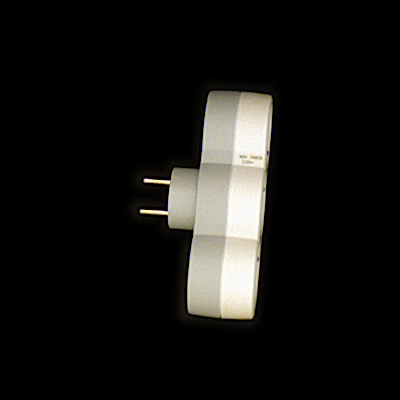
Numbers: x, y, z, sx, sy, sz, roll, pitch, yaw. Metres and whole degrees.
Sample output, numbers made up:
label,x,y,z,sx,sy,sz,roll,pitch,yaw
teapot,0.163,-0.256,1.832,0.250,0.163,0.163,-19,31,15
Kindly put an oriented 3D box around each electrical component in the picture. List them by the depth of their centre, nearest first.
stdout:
label,x,y,z,sx,sy,sz,roll,pitch,yaw
electrical component,0.000,0.000,0.638,0.073,0.138,0.052,5,-16,3
